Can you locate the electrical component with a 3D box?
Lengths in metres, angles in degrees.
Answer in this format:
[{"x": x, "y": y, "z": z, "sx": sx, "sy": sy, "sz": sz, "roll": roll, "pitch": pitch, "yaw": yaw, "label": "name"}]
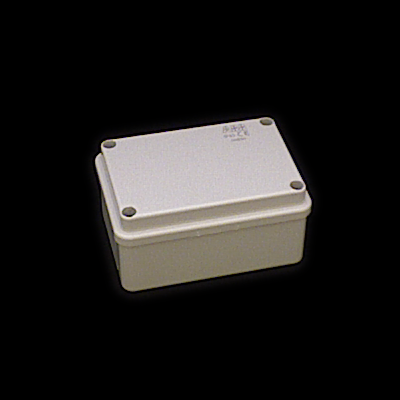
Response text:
[{"x": 0.000, "y": 0.000, "z": 0.633, "sx": 0.113, "sy": 0.057, "sz": 0.077, "roll": -9, "pitch": 43, "yaw": -11, "label": "electrical component"}]
